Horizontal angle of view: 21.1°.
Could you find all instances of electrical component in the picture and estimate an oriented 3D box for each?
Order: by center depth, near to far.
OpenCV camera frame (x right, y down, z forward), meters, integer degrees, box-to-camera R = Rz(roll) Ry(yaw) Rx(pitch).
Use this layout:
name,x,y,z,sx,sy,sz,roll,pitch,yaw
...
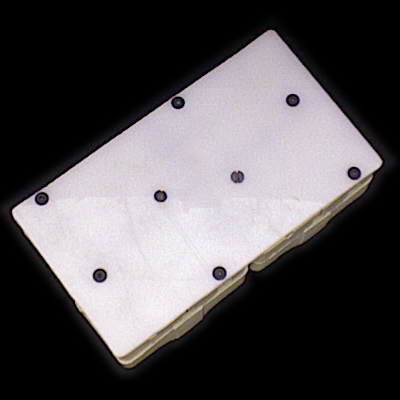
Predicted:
name,x,y,z,sx,sy,sz,roll,pitch,yaw
electrical component,0.000,0.000,0.625,0.187,0.105,0.060,-36,-13,-10
